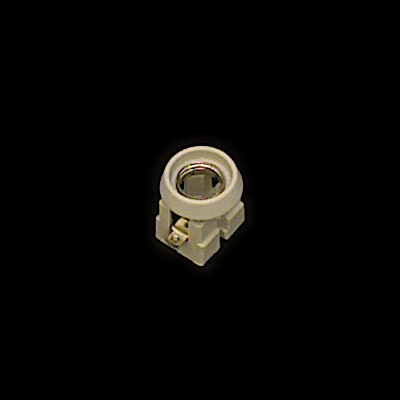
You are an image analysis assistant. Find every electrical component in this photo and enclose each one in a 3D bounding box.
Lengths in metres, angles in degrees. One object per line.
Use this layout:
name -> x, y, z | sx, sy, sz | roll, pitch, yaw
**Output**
electrical component -> 0.000, 0.000, 0.637 | 0.048, 0.067, 0.055 | 29, -32, 22
